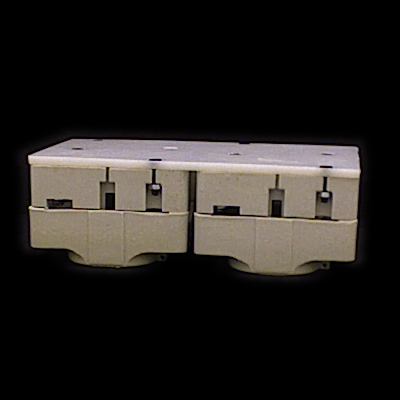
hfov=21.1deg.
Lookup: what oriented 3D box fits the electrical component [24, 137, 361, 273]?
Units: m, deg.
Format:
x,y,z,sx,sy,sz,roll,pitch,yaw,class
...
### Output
x,y,z,sx,sy,sz,roll,pitch,yaw,class
0.000,0.000,0.644,0.186,0.061,0.105,2,10,7,electrical component
